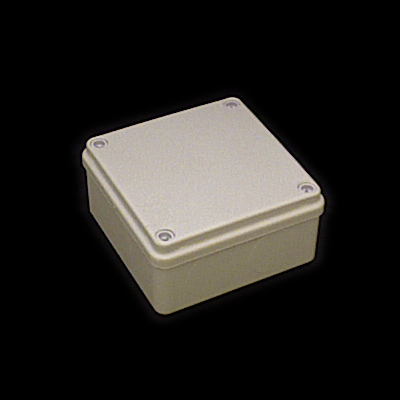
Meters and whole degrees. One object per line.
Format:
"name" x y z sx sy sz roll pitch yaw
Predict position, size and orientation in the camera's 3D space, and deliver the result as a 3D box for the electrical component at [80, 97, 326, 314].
"electrical component" 0.000 0.000 0.634 0.109 0.057 0.107 -18 45 -21
